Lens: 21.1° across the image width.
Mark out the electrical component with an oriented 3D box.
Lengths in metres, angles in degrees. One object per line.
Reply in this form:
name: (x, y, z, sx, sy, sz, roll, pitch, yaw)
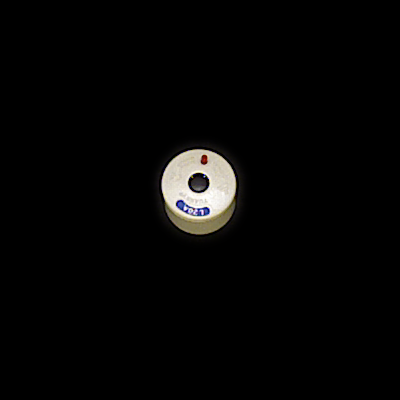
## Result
electrical component: (0.000, 0.000, 0.618, 0.040, 0.040, 0.078, 0, -17, 0)
